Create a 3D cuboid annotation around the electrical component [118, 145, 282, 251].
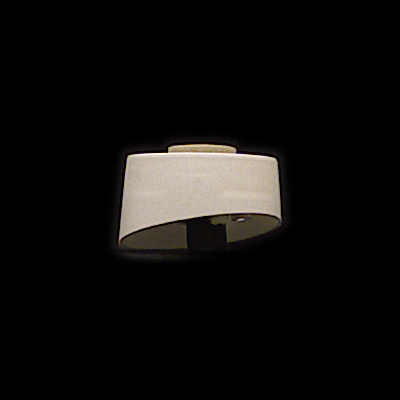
[{"bbox_3d":[0.000,0.000,0.650,0.099,0.064,0.099,1,0,0],"label":"electrical component"}]
